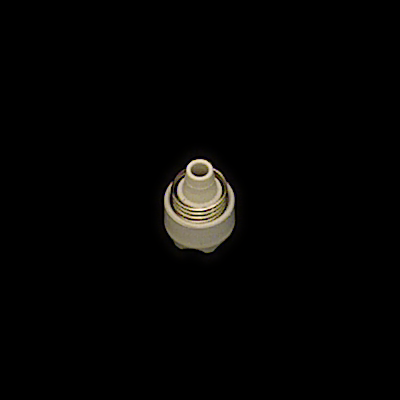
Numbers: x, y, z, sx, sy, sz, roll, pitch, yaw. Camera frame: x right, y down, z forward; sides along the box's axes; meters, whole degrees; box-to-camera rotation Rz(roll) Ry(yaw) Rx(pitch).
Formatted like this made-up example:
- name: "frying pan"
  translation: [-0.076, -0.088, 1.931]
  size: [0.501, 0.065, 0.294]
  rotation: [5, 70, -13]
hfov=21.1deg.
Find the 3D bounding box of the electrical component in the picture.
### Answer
- name: "electrical component"
  translation: [0.000, 0.000, 0.634]
  size: [0.043, 0.043, 0.062]
  rotation: [0, -36, 0]
